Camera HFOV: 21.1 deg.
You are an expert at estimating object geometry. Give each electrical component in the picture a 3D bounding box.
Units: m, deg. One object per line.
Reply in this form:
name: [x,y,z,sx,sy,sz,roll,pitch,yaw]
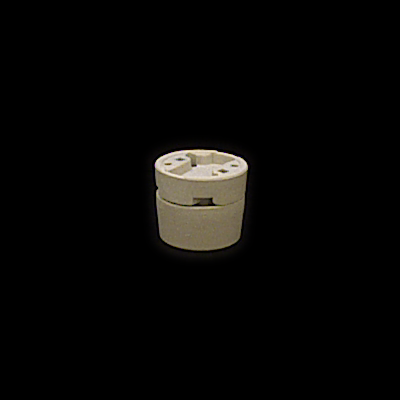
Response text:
electrical component: [0.000,0.000,0.643,0.055,0.047,0.055,1,22,0]
